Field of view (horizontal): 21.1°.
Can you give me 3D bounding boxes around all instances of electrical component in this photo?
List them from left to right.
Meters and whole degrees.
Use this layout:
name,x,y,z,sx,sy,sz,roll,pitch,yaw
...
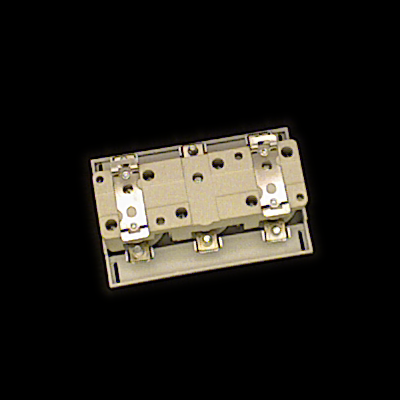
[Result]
name,x,y,z,sx,sy,sz,roll,pitch,yaw
electrical component,0.000,0.000,0.633,0.121,0.079,0.062,-10,-15,-2
